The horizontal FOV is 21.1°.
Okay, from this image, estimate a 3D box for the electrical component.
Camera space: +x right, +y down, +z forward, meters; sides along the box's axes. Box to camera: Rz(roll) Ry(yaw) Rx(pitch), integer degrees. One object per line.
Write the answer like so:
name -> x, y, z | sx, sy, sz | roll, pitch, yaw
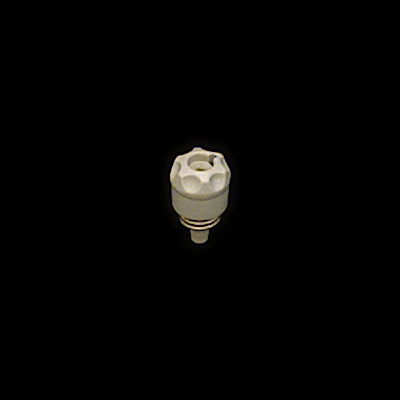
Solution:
electrical component -> 0.000, 0.000, 0.638 | 0.035, 0.062, 0.035 | 1, 43, 0
